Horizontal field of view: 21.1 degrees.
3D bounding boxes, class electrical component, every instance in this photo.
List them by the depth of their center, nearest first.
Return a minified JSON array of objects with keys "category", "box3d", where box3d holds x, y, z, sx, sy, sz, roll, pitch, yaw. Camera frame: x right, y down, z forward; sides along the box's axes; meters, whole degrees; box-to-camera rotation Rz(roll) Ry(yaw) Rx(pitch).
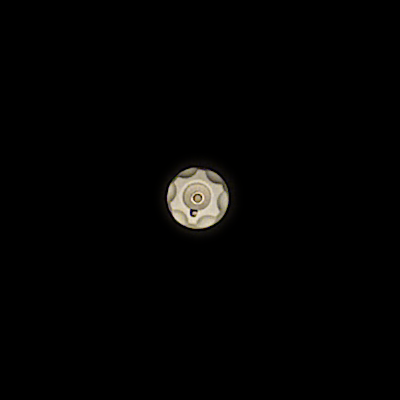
[{"category":"electrical component","box3d":[0.000,0.000,0.634,0.035,0.035,0.061,0,-5,1]}]
